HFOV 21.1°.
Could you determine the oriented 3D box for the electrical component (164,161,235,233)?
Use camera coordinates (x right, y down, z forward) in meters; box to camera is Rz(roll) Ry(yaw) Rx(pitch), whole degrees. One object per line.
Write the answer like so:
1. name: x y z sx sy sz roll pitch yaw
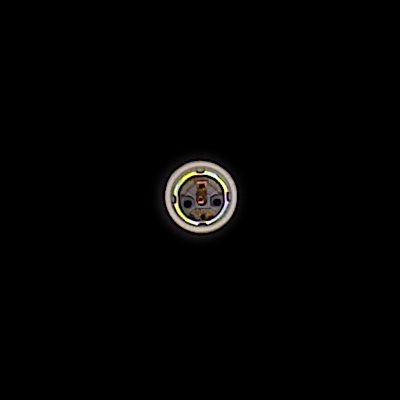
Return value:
1. electrical component: 0.000 0.000 0.627 0.040 0.040 0.046 0 -6 0
